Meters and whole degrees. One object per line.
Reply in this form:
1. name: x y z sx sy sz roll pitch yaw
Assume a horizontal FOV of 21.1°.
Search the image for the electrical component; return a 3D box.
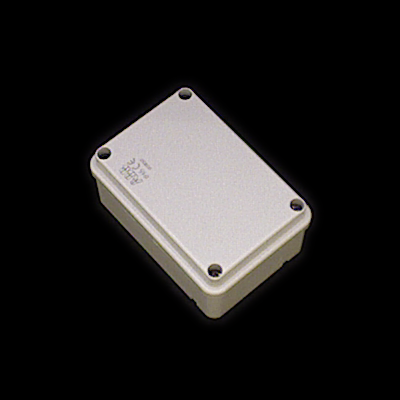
1. electrical component: 0.000 0.000 0.626 0.078 0.113 0.057 -38 -20 -18
